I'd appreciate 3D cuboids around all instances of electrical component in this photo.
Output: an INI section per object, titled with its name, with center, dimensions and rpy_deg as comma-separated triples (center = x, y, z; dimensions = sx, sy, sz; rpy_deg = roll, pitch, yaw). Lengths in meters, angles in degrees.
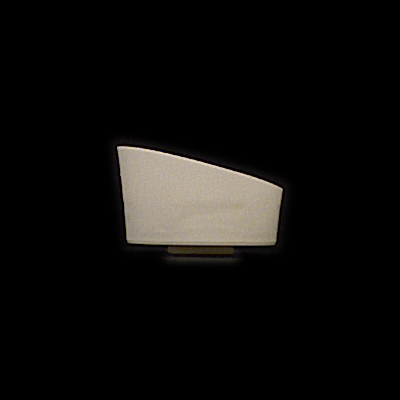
[electrical component]
center = 0.000, 0.000, 0.648
dimensions = 0.099, 0.064, 0.099
rpy_deg = 0, 0, 0
